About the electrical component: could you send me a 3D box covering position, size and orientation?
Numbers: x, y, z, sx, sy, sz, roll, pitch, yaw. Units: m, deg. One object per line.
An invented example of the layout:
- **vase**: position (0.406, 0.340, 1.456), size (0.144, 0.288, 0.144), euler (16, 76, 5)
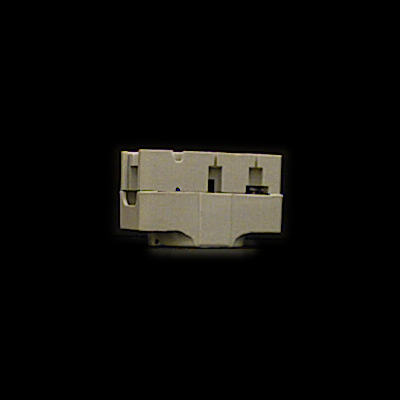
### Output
- **electrical component**: position (0.000, 0.000, 0.656), size (0.090, 0.056, 0.050), euler (0, 2, -21)
